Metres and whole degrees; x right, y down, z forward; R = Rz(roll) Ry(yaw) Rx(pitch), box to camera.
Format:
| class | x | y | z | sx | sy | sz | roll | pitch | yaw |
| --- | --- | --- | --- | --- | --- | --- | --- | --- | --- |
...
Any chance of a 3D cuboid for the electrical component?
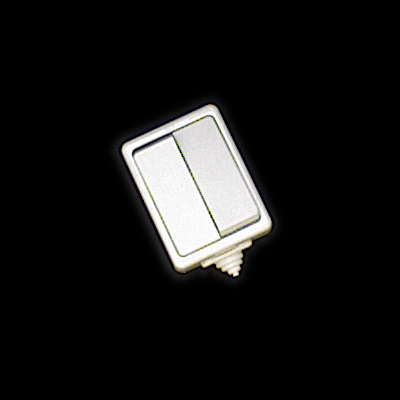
| class | x | y | z | sx | sy | sz | roll | pitch | yaw |
| --- | --- | --- | --- | --- | --- | --- | --- | --- | --- |
| electrical component | 0.000 | 0.000 | 0.626 | 0.062 | 0.096 | 0.061 | -25 | -7 | -2 |
